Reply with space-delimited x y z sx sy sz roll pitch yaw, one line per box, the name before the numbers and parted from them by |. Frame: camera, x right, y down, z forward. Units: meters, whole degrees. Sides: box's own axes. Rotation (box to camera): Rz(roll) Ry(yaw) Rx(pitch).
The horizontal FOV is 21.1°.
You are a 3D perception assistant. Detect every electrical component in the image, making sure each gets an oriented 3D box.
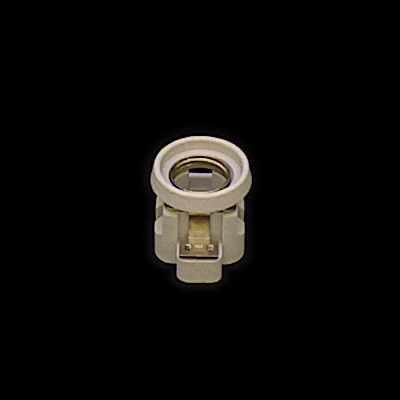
electrical component | 0.000 0.000 0.630 0.058 0.057 0.078 1 42 0
